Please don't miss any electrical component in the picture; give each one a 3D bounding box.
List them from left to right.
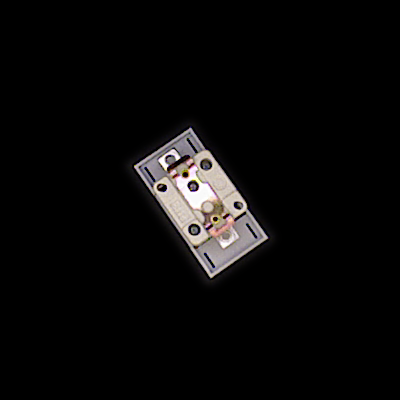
[{"bbox_3d":[0.000,0.000,0.626,0.042,0.081,0.063,-35,-6,-3],"label":"electrical component"}]
